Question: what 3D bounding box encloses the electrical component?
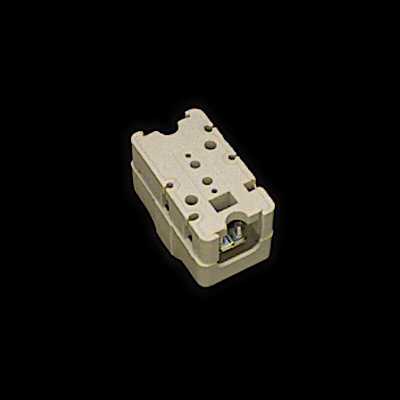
[{"bbox_3d":[0.000,0.000,0.637,0.050,0.089,0.056,-25,-32,-18],"label":"electrical component"}]
